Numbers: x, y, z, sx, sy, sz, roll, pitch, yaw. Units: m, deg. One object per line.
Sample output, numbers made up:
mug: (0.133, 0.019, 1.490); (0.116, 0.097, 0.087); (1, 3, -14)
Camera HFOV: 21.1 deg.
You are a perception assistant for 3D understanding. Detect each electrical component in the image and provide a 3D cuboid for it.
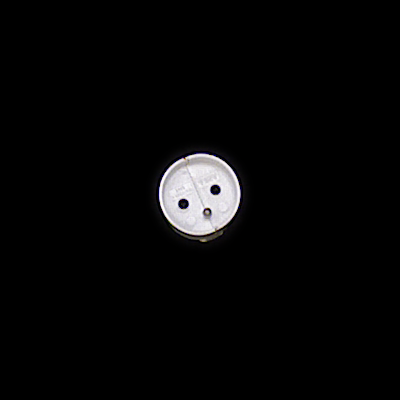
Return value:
electrical component: (0.000, 0.000, 0.615); (0.043, 0.043, 0.080); (0, -5, 0)
